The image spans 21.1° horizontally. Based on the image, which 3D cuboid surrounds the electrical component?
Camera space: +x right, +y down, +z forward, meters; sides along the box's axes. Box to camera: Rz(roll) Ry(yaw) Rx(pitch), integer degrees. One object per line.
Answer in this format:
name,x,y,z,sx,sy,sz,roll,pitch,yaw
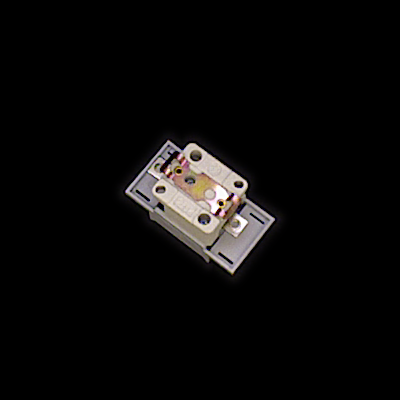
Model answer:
electrical component,0.000,0.000,0.625,0.081,0.042,0.063,36,-14,10
